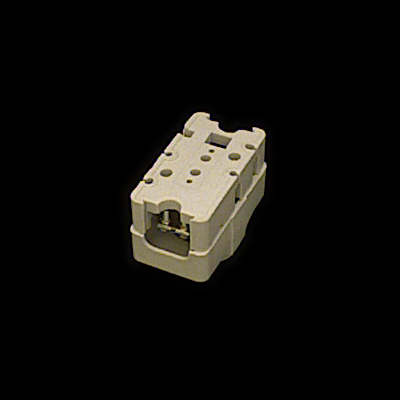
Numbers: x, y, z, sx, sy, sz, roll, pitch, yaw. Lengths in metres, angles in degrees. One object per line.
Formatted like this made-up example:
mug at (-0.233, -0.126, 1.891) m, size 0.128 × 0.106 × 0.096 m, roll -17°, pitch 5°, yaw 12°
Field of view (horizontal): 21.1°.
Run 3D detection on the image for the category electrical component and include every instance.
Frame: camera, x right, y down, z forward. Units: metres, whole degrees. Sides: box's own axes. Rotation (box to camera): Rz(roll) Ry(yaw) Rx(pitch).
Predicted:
electrical component at (0.000, 0.000, 0.639) m, size 0.050 × 0.056 × 0.089 m, roll 18°, pitch 45°, yaw 19°
